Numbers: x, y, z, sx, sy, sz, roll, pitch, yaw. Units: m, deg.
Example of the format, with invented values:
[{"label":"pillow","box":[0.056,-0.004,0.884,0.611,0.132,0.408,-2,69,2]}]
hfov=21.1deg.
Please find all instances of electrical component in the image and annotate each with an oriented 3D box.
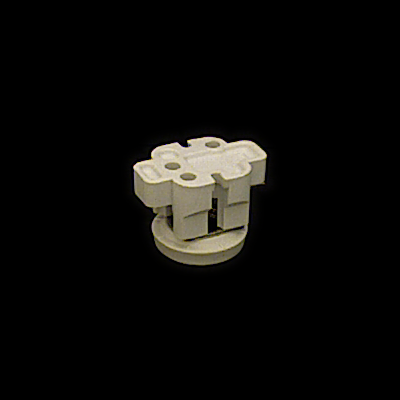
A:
[{"label":"electrical component","box":[0.000,0.000,0.644,0.079,0.057,0.057,-13,34,-24]}]
